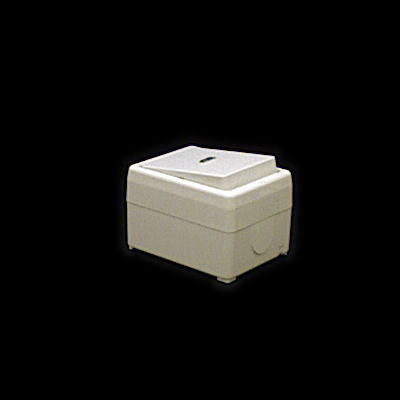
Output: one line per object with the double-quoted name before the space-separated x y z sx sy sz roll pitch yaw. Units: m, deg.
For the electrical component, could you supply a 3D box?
"electrical component" 0.000 0.000 0.640 0.095 0.061 0.061 17 26 36
